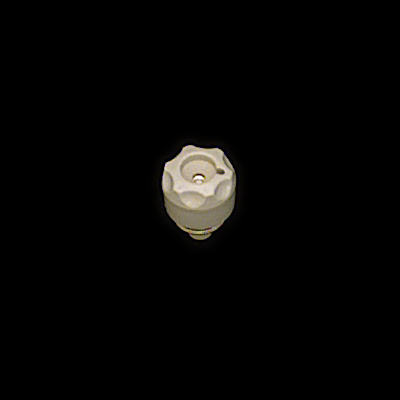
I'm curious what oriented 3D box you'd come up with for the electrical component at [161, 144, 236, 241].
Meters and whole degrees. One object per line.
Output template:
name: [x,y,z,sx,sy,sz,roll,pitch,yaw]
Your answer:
electrical component: [0.000,0.000,0.635,0.043,0.043,0.062,0,-37,1]
